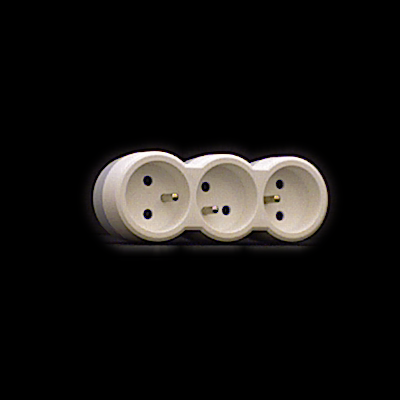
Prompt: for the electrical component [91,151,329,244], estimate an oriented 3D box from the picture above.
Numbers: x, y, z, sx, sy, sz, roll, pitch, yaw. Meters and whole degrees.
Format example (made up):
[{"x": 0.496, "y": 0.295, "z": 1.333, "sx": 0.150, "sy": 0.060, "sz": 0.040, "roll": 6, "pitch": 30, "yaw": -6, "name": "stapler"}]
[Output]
[{"x": 0.000, "y": 0.000, "z": 0.648, "sx": 0.139, "sy": 0.052, "sz": 0.073, "roll": 0, "pitch": -1, "yaw": -26, "name": "electrical component"}]
